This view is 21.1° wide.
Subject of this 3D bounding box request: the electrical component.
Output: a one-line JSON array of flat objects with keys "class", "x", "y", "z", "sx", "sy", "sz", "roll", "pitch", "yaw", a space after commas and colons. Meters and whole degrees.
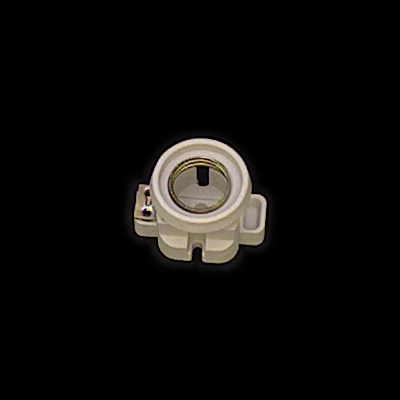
[{"class": "electrical component", "x": 0.000, "y": 0.000, "z": 0.628, "sx": 0.078, "sy": 0.058, "sz": 0.057, "roll": 5, "pitch": -27, "yaw": 2}]
